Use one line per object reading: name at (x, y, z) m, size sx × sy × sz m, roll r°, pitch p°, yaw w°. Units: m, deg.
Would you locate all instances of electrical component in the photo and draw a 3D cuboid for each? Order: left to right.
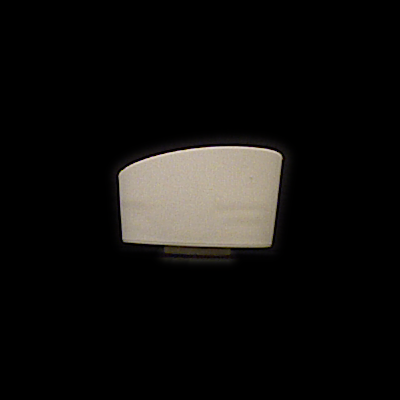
electrical component at (0.000, 0.000, 0.649) m, size 0.099 × 0.064 × 0.099 m, roll 2°, pitch 0°, yaw 0°
